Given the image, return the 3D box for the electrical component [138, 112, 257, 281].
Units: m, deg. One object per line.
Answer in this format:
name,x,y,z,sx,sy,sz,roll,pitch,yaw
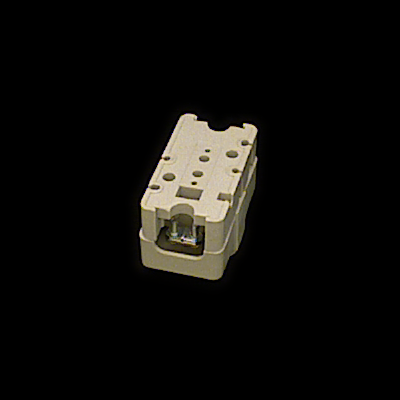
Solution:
electrical component,0.000,0.000,0.639,0.050,0.056,0.089,11,44,11
